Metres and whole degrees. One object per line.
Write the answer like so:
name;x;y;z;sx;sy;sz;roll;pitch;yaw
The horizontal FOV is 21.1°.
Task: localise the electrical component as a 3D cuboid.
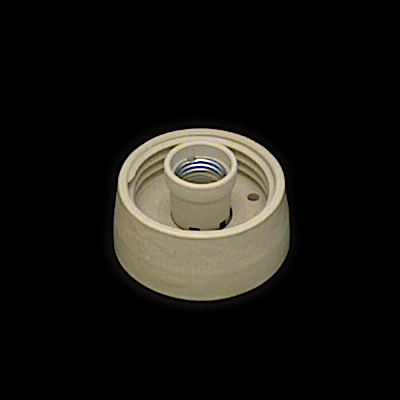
electrical component;0.000;0.000;0.638;0.108;0.061;0.107;1;43;0
